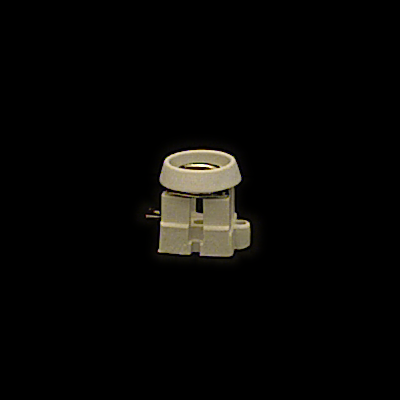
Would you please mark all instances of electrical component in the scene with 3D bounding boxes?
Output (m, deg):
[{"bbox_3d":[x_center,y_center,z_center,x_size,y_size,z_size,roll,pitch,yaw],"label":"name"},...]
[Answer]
[{"bbox_3d":[0.000,0.000,0.646,0.066,0.056,0.048,3,20,4],"label":"electrical component"}]
